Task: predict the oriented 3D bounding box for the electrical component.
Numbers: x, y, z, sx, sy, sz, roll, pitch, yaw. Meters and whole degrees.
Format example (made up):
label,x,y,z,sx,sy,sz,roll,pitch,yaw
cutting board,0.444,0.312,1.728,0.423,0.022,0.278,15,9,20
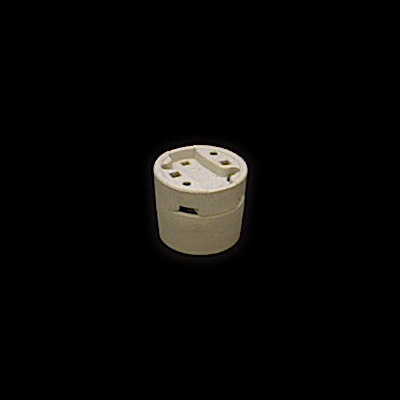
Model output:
label,x,y,z,sx,sy,sz,roll,pitch,yaw
electrical component,0.000,0.000,0.638,0.055,0.047,0.055,1,31,0
